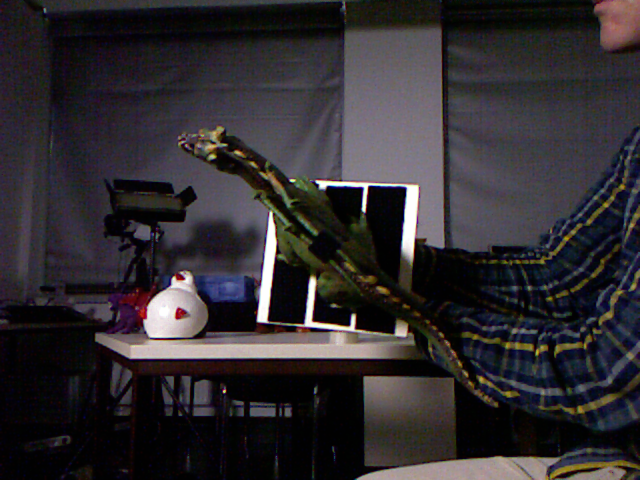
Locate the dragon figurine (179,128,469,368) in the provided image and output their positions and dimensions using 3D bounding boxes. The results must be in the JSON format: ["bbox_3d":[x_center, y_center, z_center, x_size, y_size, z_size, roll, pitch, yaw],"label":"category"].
[{"bbox_3d":[0.015,0.007,0.567,0.414,0.123,0.242,37,-2,12],"label":"dragon figurine"}]
